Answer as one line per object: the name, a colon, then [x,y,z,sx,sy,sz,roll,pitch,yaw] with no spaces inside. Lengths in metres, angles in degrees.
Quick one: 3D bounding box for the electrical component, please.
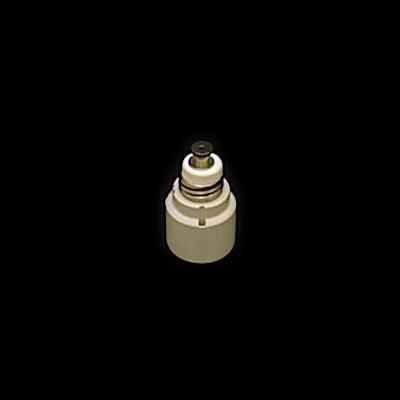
electrical component: [0.000,0.000,0.626,0.040,0.079,0.039,1,43,-1]
